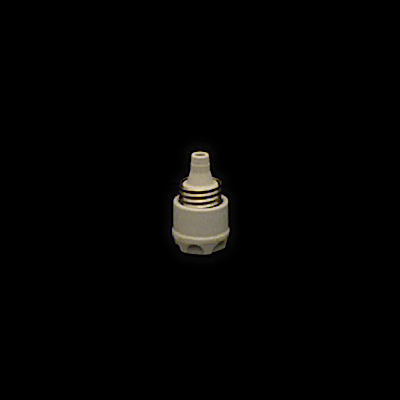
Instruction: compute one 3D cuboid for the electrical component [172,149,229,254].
[{"bbox_3d":[0.000,0.000,0.651,0.035,0.062,0.034,-1,23,0],"label":"electrical component"}]
